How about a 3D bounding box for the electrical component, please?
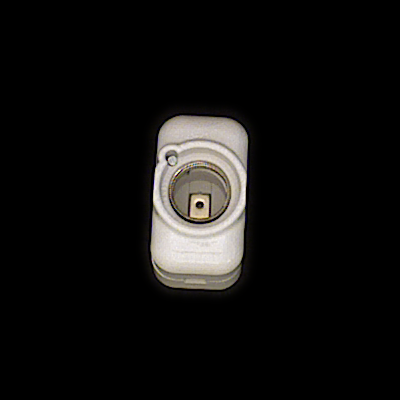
[{"bbox_3d":[0.000,0.000,0.634,0.054,0.095,0.059,2,-16,1],"label":"electrical component"}]
